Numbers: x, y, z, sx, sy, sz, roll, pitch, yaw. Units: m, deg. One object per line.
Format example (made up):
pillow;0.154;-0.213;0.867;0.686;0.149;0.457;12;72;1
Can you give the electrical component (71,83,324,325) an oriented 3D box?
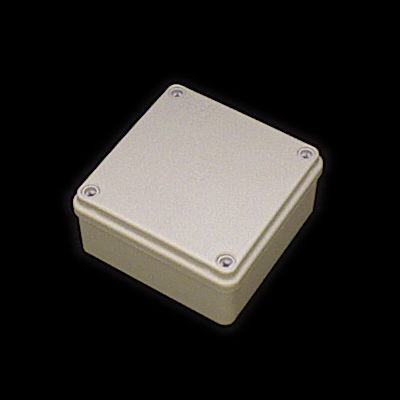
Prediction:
electrical component;0.000;0.000;0.629;0.108;0.109;0.056;27;-33;19
